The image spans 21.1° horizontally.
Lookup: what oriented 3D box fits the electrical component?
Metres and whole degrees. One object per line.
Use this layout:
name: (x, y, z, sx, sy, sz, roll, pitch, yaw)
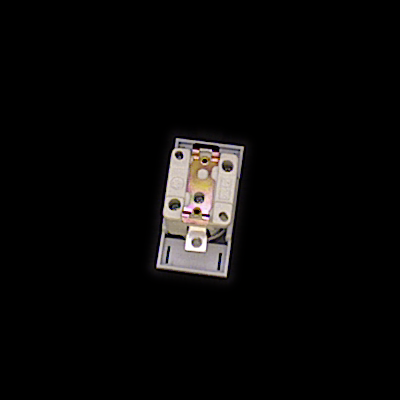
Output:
electrical component: (0.000, 0.000, 0.625, 0.042, 0.081, 0.063, 7, -17, 2)
